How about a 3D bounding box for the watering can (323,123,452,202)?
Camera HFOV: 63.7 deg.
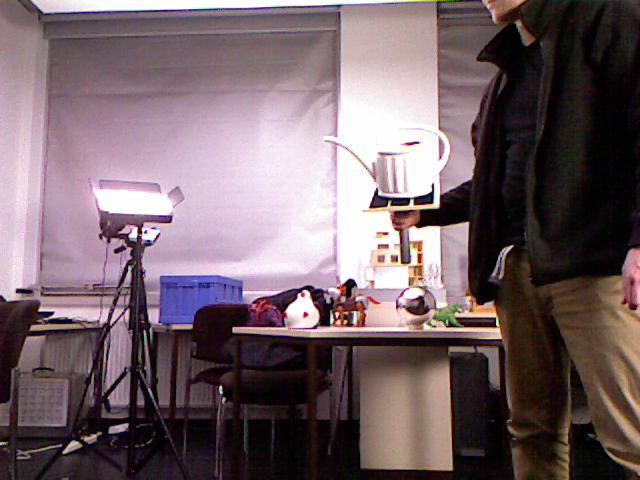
[{"bbox_3d":[0.190,-0.213,1.438,0.348,0.220,0.106,-2,25,13],"label":"watering can"}]
